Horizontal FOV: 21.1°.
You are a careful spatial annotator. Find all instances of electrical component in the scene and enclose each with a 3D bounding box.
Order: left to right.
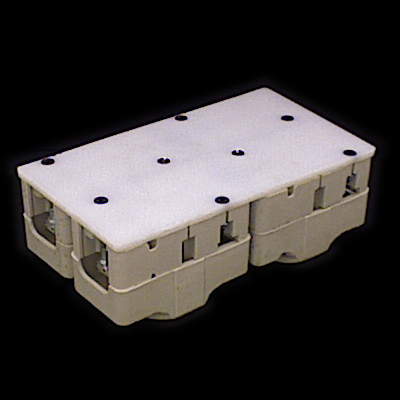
[{"bbox_3d":[0.000,0.000,0.634,0.186,0.061,0.104,-21,38,-32],"label":"electrical component"}]
